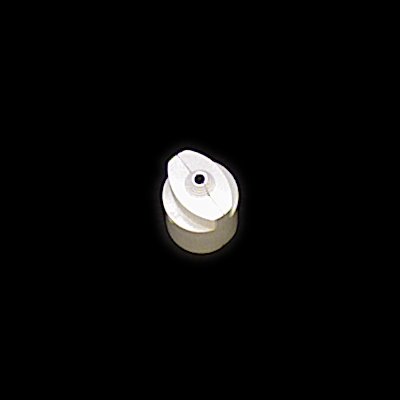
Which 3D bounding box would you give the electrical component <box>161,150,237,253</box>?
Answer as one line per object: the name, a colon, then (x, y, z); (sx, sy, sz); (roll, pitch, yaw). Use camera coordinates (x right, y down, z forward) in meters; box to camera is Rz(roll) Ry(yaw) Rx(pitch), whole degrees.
electrical component: (0.000, 0.000, 0.616); (0.043, 0.043, 0.080); (0, -17, 1)
